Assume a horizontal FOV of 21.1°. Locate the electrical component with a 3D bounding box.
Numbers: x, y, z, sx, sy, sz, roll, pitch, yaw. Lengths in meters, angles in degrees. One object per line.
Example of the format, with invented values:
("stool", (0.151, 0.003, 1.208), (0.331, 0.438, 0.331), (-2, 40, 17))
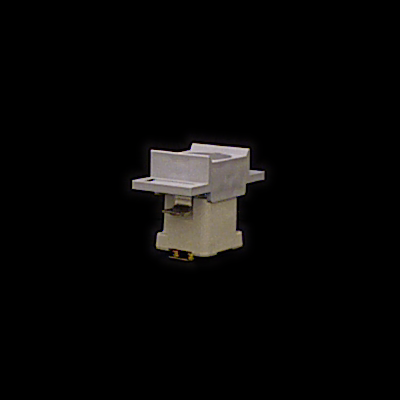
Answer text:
("electrical component", (0.000, 0.000, 0.646), (0.042, 0.064, 0.080), (8, 13, 34))
